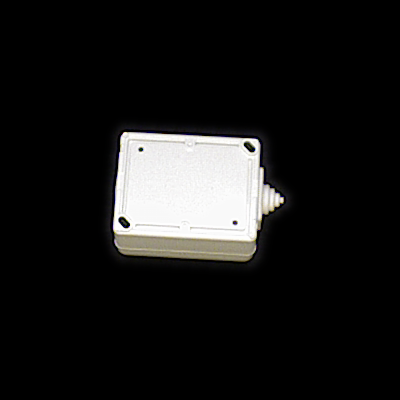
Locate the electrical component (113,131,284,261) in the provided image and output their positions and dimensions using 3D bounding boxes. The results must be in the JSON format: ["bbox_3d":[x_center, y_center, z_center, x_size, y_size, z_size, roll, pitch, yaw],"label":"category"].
[{"bbox_3d":[0.000,0.000,0.626,0.096,0.062,0.060,3,-18,1],"label":"electrical component"}]
